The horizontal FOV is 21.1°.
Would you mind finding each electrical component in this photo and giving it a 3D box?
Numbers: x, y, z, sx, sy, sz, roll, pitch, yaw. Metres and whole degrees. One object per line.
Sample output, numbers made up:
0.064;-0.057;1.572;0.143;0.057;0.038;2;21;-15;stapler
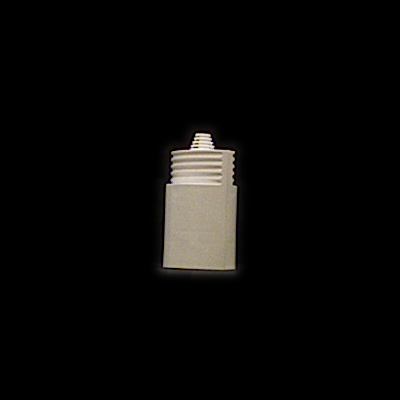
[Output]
0.000;0.000;0.649;0.043;0.081;0.043;1;1;0;electrical component
